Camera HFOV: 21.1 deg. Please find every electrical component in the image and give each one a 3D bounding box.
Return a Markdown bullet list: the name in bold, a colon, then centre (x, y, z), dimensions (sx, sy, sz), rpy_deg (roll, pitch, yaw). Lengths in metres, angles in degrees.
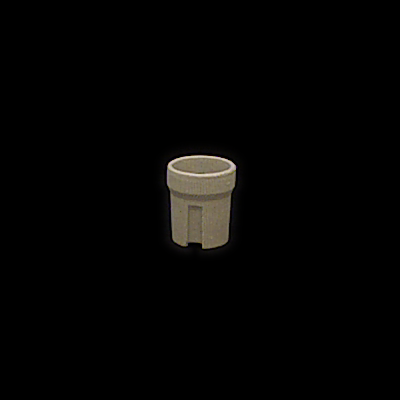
- **electrical component**: centre (0.000, 0.000, 0.642), dimensions (0.040, 0.047, 0.039), rpy_deg (1, 21, 0)
